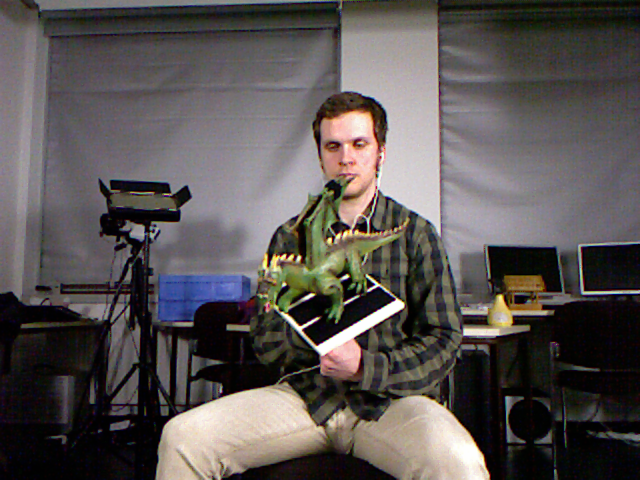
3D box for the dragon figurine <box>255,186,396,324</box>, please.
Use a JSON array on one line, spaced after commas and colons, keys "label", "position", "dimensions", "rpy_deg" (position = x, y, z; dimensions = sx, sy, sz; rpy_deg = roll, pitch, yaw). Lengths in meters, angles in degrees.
[{"label": "dragon figurine", "position": [0.024, 0.009, 0.955], "dimensions": [0.123, 0.237, 0.418], "rpy_deg": [26, 49, 28]}]
